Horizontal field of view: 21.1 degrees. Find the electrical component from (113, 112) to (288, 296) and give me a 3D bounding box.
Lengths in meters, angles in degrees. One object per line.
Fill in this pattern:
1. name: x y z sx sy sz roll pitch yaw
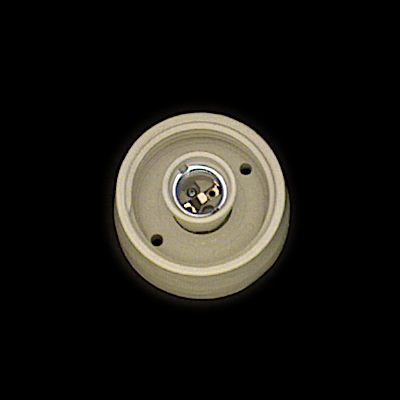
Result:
1. electrical component: 0.000 0.000 0.633 0.108 0.108 0.060 0 -16 0
